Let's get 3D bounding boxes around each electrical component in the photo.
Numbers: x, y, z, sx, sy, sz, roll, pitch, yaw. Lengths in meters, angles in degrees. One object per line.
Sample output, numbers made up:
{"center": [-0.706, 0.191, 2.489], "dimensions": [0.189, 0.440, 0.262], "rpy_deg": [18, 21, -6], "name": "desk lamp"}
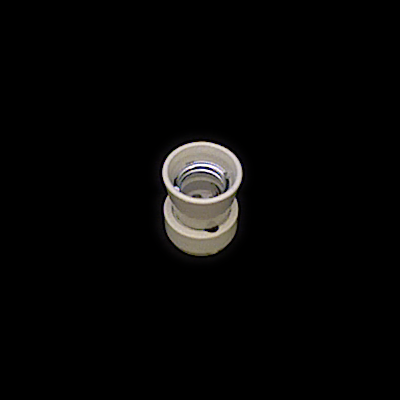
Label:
{"center": [0.000, 0.000, 0.631], "dimensions": [0.045, 0.044, 0.055], "rpy_deg": [0, -38, -1], "name": "electrical component"}
